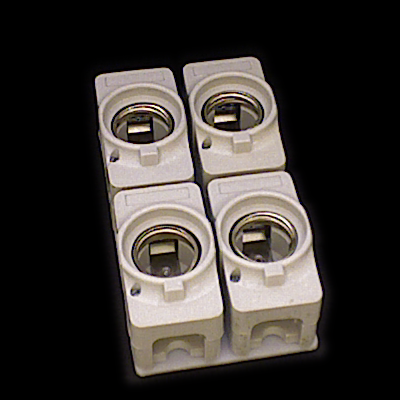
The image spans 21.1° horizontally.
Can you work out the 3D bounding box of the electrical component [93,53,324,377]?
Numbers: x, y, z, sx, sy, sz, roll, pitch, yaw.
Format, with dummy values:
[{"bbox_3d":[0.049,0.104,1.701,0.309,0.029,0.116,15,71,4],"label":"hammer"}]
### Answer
[{"bbox_3d":[0.000,0.000,0.627,0.105,0.185,0.060,-7,-37,-6],"label":"electrical component"}]
